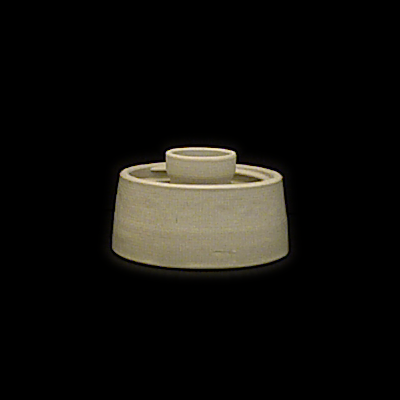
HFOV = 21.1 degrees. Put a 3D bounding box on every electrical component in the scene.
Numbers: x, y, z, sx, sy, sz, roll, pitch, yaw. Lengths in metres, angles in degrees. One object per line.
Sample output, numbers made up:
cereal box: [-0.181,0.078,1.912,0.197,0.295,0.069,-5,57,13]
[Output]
electrical component: [0.000,0.000,0.652,0.108,0.061,0.107,1,11,0]
